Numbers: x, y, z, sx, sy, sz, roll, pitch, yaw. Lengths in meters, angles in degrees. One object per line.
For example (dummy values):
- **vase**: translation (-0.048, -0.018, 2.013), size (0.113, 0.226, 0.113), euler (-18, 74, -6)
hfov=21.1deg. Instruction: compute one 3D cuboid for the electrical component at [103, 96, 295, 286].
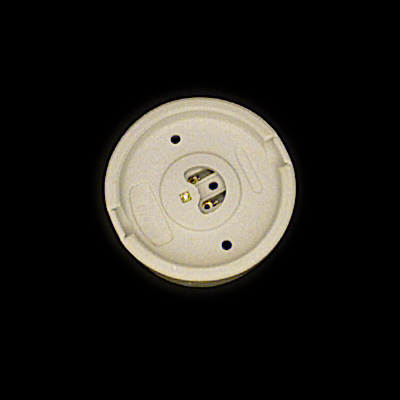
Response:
- **electrical component**: translation (0.000, 0.000, 0.633), size (0.108, 0.108, 0.060), euler (0, -16, 0)
